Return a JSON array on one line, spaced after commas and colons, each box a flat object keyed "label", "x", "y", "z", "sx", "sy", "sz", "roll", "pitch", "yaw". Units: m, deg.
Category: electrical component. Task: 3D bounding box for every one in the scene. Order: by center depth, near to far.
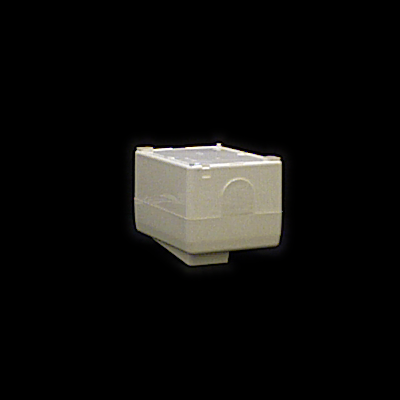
[{"label": "electrical component", "x": 0.000, "y": 0.000, "z": 0.650, "sx": 0.062, "sy": 0.061, "sz": 0.095, "roll": -5, "pitch": 12, "yaw": -27}]
